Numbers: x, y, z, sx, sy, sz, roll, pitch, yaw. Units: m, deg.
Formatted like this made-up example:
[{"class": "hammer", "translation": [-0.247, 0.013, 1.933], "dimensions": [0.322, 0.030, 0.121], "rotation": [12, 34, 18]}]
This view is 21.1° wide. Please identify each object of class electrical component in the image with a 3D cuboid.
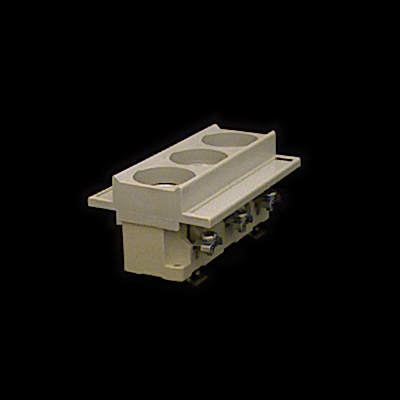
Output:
[{"class": "electrical component", "translation": [0.000, 0.000, 0.651], "dimensions": [0.078, 0.064, 0.120], "rotation": [11, 23, 27]}]
